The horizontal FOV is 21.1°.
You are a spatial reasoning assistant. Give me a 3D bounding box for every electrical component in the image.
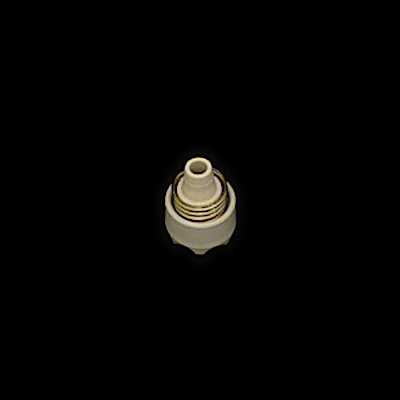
[{"bbox_3d":[0.000,0.000,0.635,0.043,0.043,0.062,0,-38,1],"label":"electrical component"}]
